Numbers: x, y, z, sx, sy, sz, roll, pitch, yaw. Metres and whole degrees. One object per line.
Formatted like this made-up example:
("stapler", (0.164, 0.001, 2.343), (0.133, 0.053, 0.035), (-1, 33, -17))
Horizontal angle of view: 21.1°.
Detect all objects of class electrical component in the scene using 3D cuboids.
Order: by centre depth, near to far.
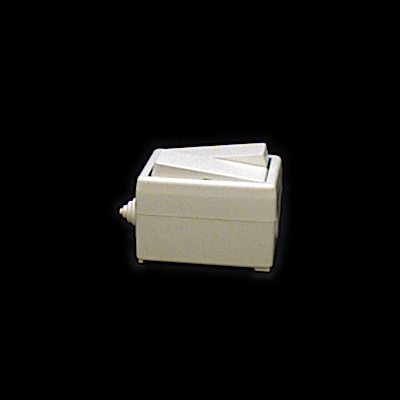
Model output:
("electrical component", (0.000, 0.000, 0.639), (0.096, 0.061, 0.061), (4, 21, 7))
